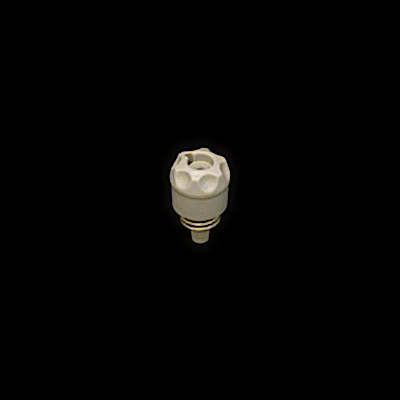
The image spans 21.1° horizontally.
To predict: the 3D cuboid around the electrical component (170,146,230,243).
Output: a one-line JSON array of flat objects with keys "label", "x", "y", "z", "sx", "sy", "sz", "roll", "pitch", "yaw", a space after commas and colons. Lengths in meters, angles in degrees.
[{"label": "electrical component", "x": 0.000, "y": 0.000, "z": 0.639, "sx": 0.035, "sy": 0.062, "sz": 0.035, "roll": 1, "pitch": 42, "yaw": 0}]
